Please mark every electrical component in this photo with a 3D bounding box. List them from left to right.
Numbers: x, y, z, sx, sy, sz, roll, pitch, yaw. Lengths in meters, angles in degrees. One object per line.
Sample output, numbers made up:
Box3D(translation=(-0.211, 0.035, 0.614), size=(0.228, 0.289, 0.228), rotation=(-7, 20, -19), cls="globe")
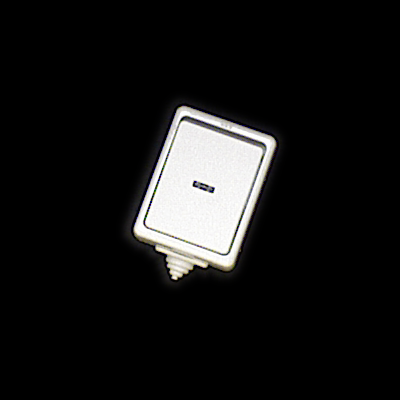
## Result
Box3D(translation=(0.000, 0.000, 0.626), size=(0.062, 0.096, 0.061), rotation=(19, -6, 3), cls="electrical component")
